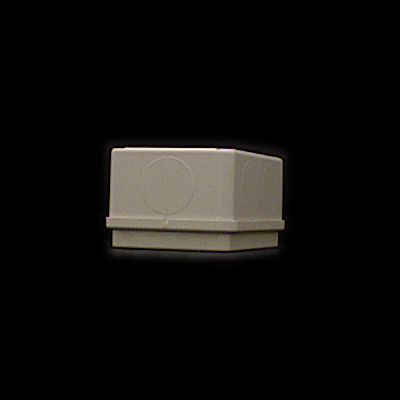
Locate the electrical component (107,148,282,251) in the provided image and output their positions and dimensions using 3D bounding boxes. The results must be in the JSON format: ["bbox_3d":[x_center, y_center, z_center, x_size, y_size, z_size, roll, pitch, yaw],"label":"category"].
[{"bbox_3d":[0.000,0.000,0.649,0.078,0.057,0.113,2,1,20],"label":"electrical component"}]
